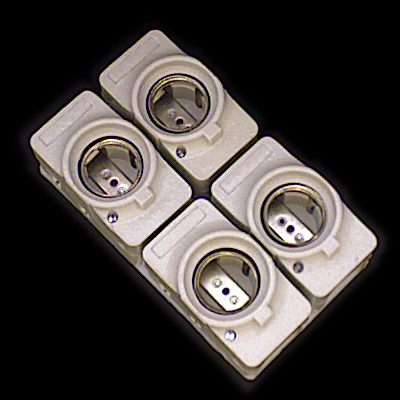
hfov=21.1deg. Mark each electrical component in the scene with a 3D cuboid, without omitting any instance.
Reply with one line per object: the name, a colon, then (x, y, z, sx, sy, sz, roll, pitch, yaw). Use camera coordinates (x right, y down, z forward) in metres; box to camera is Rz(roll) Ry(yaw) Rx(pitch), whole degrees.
electrical component: (0.000, 0.000, 0.625, 0.106, 0.186, 0.060, -43, -12, -12)
